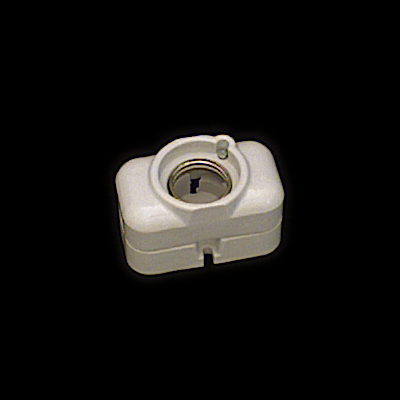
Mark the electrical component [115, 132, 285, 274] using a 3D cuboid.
[{"bbox_3d":[0.000,0.000,0.636,0.095,0.053,0.059,-10,-36,-8],"label":"electrical component"}]
